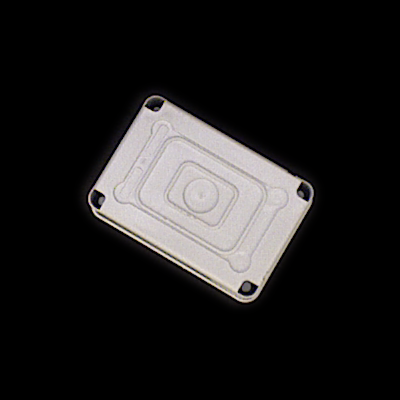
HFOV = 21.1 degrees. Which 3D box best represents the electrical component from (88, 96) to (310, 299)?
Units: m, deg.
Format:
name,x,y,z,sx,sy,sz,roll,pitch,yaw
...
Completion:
name,x,y,z,sx,sy,sz,roll,pitch,yaw
electrical component,0.000,0.000,0.629,0.113,0.078,0.057,31,-5,4
